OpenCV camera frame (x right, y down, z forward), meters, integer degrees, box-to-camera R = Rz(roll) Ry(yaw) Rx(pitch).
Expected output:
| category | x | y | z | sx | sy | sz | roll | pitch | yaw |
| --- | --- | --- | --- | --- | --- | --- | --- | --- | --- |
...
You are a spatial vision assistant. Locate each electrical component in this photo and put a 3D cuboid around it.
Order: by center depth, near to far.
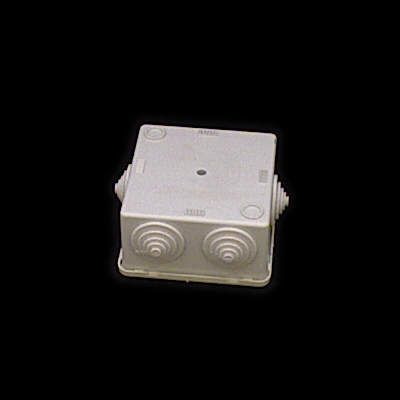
| category | x | y | z | sx | sy | sz | roll | pitch | yaw |
| --- | --- | --- | --- | --- | --- | --- | --- | --- | --- |
| electrical component | 0.000 | 0.000 | 0.634 | 0.100 | 0.049 | 0.099 | 4 | 43 | 4 |
